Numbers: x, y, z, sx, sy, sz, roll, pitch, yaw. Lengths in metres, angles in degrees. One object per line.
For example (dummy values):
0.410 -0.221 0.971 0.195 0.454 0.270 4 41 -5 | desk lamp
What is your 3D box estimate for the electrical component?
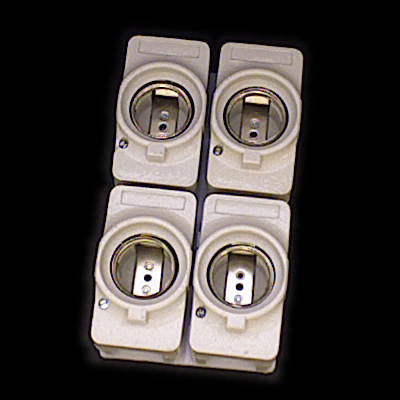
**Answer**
0.000 0.000 0.625 0.105 0.187 0.060 5 -17 2 | electrical component
